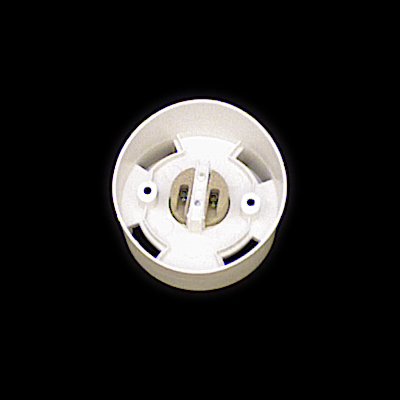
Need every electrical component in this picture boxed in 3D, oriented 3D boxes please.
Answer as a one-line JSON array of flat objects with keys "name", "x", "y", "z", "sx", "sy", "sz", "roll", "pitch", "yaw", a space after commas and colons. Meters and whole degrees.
[{"name": "electrical component", "x": 0.000, "y": 0.000, "z": 0.624, "sx": 0.099, "sy": 0.099, "sz": 0.064, "roll": 0, "pitch": -28, "yaw": 0}]
